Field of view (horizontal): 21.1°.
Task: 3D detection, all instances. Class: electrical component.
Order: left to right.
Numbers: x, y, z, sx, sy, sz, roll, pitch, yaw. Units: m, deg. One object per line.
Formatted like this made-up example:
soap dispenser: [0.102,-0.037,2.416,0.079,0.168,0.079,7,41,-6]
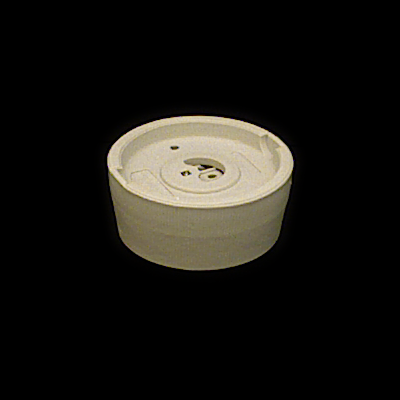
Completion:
electrical component: [0.000,0.000,0.638,0.108,0.061,0.106,1,32,0]
